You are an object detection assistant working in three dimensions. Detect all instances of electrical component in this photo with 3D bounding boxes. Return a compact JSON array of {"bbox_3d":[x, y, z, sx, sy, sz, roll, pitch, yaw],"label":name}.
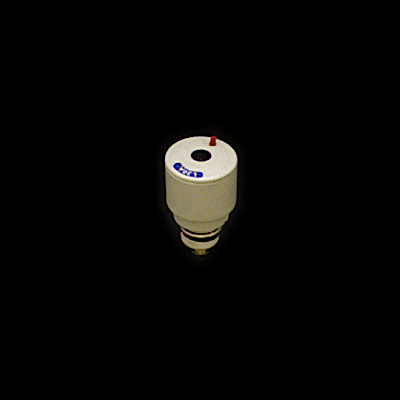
[{"bbox_3d":[0.000,0.000,0.626,0.040,0.079,0.039,1,41,0],"label":"electrical component"}]
